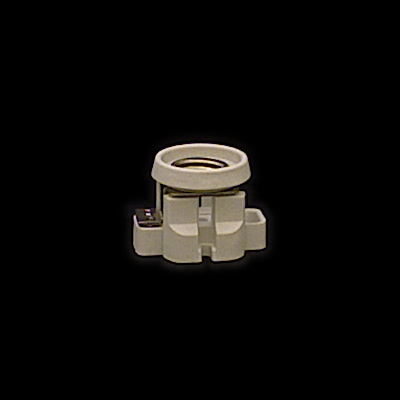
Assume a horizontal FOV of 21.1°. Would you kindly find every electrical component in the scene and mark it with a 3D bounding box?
[{"bbox_3d":[0.000,0.000,0.638,0.079,0.057,0.057,-3,21,-10],"label":"electrical component"}]
